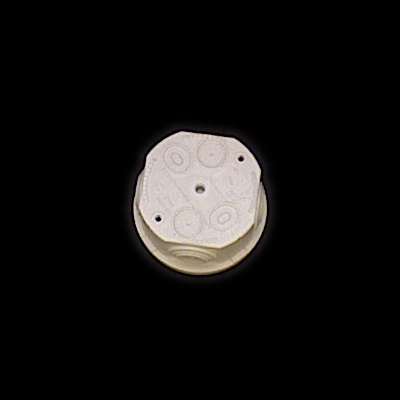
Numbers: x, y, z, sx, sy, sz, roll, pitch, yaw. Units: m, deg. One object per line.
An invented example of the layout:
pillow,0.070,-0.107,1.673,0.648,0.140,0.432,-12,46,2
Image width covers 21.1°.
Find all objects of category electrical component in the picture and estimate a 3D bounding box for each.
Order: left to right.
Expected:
electrical component,0.000,0.000,0.632,0.080,0.080,0.050,0,-17,-1
